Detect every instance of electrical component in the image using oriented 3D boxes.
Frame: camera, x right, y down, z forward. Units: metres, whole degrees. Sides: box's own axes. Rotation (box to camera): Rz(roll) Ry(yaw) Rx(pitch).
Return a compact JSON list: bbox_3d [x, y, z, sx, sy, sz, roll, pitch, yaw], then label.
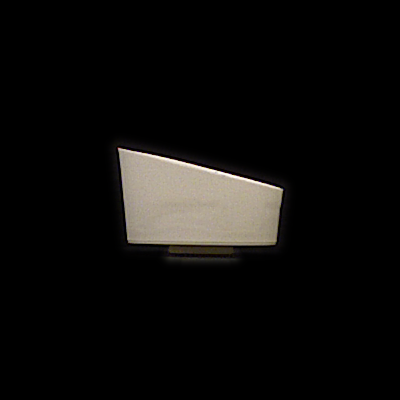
[{"bbox_3d":[0.000,0.000,0.649,0.099,0.064,0.099,0,0,0],"label":"electrical component"}]
